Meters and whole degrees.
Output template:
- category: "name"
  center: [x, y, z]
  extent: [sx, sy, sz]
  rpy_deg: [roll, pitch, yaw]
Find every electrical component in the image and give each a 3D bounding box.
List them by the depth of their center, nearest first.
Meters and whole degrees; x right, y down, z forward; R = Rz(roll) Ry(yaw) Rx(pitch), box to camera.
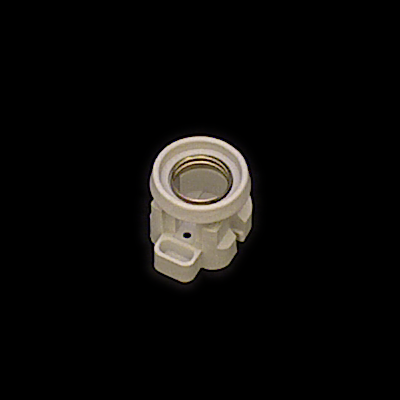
- category: "electrical component"
  center: [0.000, 0.000, 0.630]
  extent: [0.057, 0.078, 0.057]
  rpy_deg: [23, -34, 16]
